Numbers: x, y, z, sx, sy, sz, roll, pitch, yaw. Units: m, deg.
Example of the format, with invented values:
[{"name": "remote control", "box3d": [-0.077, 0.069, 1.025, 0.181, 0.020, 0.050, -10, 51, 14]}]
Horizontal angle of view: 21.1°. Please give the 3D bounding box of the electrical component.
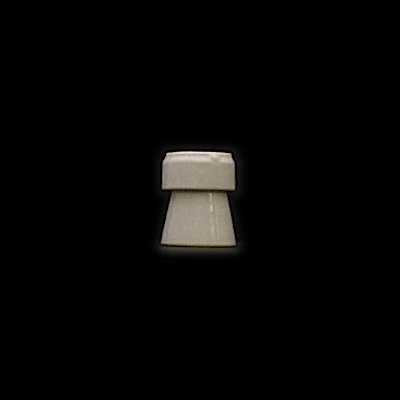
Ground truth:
[{"name": "electrical component", "box3d": [0.000, 0.000, 0.649, 0.045, 0.055, 0.045, 1, 1, 0]}]
